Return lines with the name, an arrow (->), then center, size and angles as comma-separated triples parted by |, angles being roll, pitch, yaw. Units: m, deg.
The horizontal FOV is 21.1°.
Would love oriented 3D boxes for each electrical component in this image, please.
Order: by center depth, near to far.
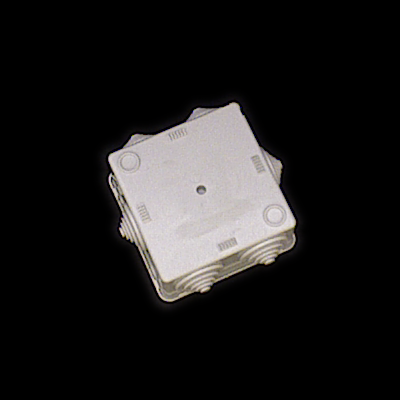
electrical component -> 0.000, 0.000, 0.632 | 0.100, 0.100, 0.048 | -23, -15, -7
